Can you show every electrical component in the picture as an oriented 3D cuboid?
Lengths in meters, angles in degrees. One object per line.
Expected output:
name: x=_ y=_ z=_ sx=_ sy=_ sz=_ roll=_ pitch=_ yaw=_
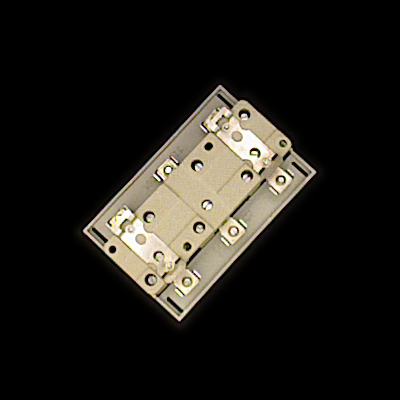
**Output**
electrical component: x=0.000 y=0.000 z=0.634 sx=0.078 sy=0.122 sz=0.063 roll=42 pitch=-5 yaw=5
